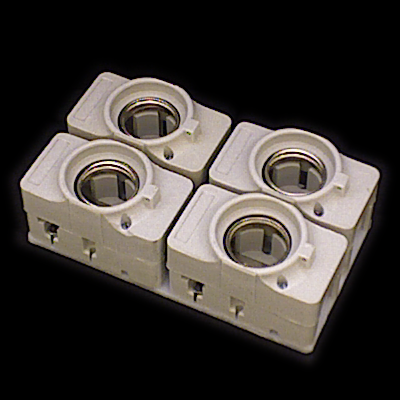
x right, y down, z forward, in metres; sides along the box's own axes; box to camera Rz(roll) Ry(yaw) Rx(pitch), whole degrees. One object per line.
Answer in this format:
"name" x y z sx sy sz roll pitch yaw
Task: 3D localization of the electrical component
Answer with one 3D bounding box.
"electrical component" 0.000 0.000 0.628 0.186 0.105 0.060 21 -35 15
